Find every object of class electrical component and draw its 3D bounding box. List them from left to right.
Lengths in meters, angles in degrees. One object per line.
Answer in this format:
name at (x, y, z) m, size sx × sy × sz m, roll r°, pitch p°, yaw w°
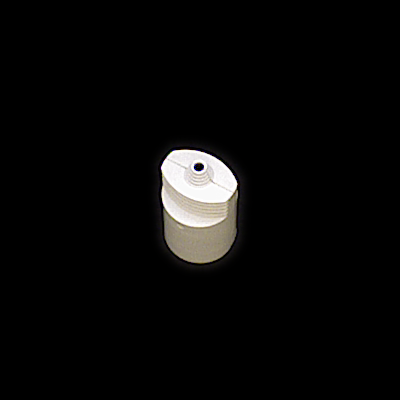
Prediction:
electrical component at (0.000, 0.000, 0.617) m, size 0.043 × 0.043 × 0.081 m, roll 0°, pitch -27°, yaw 0°
